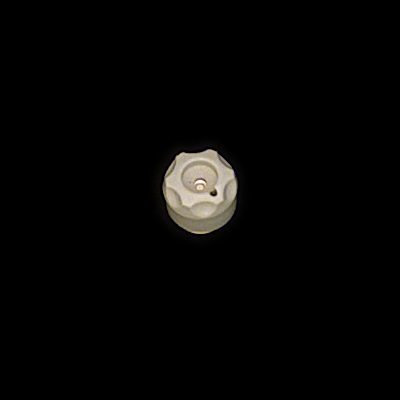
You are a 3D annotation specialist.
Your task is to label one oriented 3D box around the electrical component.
[{"bbox_3d":[0.000,0.000,0.634,0.043,0.043,0.062,0,-27,1],"label":"electrical component"}]
